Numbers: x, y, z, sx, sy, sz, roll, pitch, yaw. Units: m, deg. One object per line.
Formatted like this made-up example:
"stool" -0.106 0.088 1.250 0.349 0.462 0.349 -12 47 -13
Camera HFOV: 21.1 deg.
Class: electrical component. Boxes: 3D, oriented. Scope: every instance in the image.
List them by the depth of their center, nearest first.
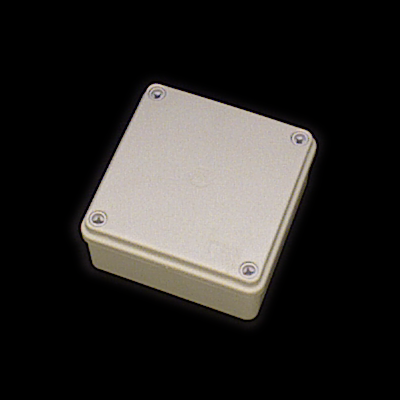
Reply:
"electrical component" 0.000 0.000 0.630 0.108 0.109 0.056 18 -27 9
